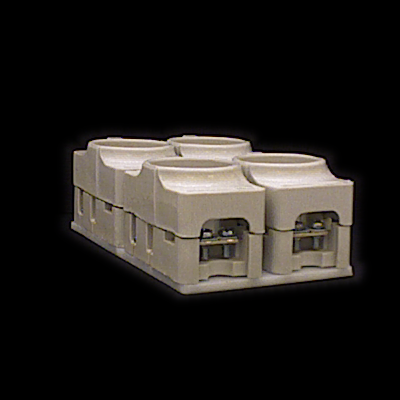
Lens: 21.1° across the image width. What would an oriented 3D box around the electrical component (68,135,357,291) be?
[{"bbox_3d":[0.000,0.000,0.643,0.106,0.060,0.184,-4,11,-25],"label":"electrical component"}]
